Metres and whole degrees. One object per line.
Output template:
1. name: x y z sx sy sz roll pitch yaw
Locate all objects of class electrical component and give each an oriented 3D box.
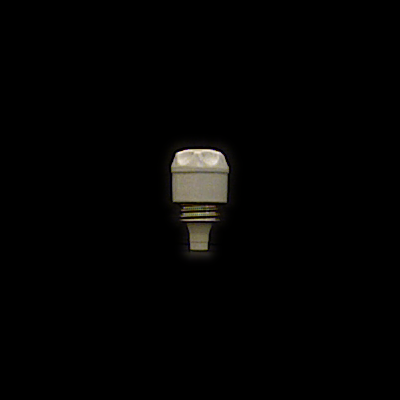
1. electrical component: 0.000 0.000 0.657 0.035 0.061 0.035 1 2 1
